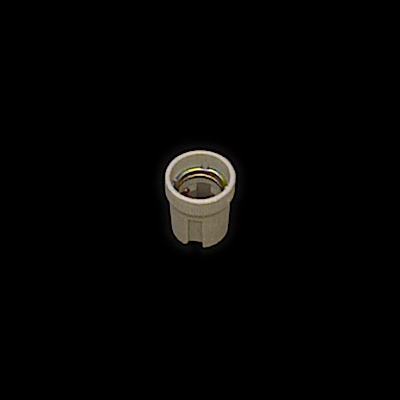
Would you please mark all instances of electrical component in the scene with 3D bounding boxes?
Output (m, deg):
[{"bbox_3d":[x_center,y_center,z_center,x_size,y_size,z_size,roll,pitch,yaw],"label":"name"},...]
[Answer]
[{"bbox_3d":[0.000,0.000,0.632,0.040,0.039,0.047,0,-38,-1],"label":"electrical component"}]
